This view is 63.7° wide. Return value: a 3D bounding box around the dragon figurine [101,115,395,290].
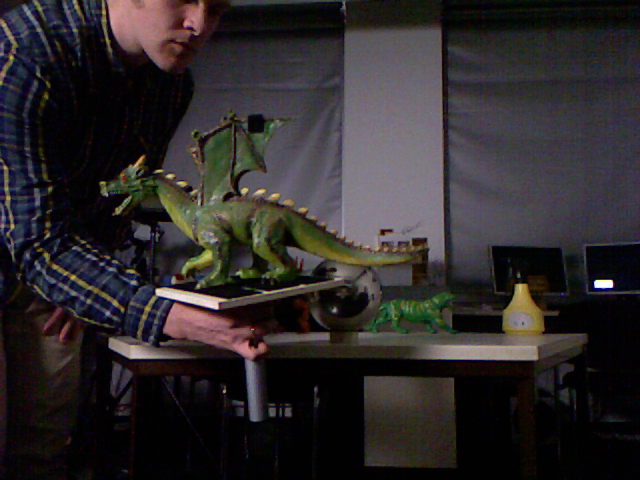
[{"bbox_3d":[-0.104,-0.061,0.752,0.410,0.241,0.123,-5,8,-2],"label":"dragon figurine"}]
